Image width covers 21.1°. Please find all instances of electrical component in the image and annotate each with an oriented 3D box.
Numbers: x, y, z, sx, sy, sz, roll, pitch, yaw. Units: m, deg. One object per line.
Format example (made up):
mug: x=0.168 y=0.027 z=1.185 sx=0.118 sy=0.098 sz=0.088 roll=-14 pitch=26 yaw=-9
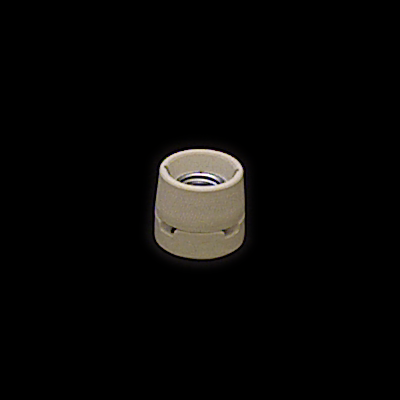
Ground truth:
electrical component: x=0.000 y=0.000 z=0.638 sx=0.055 sy=0.047 sz=0.055 roll=2 pitch=32 yaw=-1
